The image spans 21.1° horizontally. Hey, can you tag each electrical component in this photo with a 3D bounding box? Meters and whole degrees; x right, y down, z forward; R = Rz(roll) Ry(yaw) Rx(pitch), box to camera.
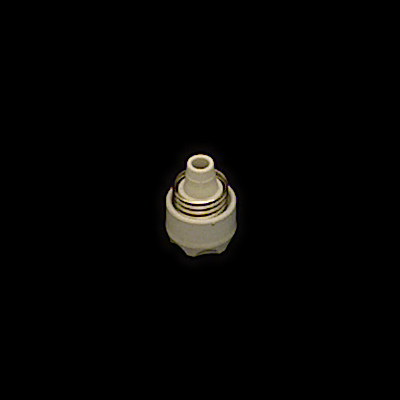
[{"bbox_3d":[0.000,0.000,0.637,0.043,0.062,0.043,0,43,1],"label":"electrical component"}]
